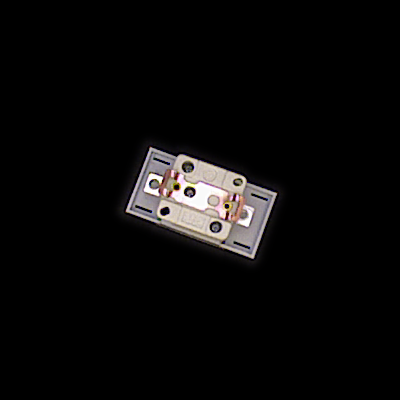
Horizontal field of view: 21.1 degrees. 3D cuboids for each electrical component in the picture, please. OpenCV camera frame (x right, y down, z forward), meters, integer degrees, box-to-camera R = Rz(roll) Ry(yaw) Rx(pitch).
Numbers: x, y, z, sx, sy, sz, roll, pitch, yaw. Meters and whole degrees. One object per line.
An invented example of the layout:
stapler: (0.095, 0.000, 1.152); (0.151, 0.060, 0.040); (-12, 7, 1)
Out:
electrical component: (0.000, 0.000, 0.626); (0.081, 0.042, 0.063); (20, -6, 3)
